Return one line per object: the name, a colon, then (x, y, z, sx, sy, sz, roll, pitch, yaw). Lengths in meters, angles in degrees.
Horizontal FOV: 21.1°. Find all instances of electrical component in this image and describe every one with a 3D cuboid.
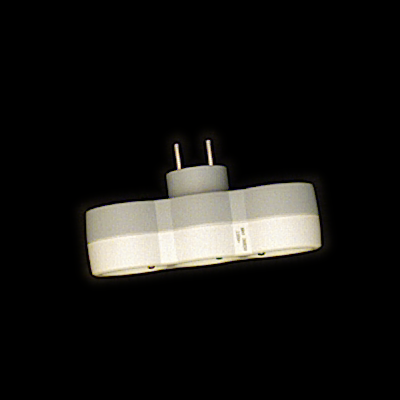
electrical component: (0.000, 0.000, 0.640, 0.138, 0.074, 0.052, -7, -7, -1)
